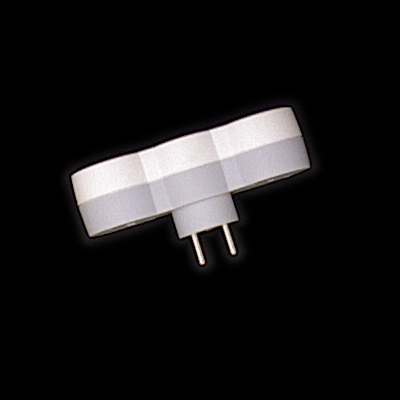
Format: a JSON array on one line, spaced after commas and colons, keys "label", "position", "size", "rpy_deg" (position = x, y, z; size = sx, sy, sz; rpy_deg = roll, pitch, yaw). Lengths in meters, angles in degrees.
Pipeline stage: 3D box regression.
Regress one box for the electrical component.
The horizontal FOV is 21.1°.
[{"label": "electrical component", "position": [0.000, 0.000, 0.632], "size": [0.138, 0.074, 0.052], "rpy_deg": [-18, -4, -3]}]
